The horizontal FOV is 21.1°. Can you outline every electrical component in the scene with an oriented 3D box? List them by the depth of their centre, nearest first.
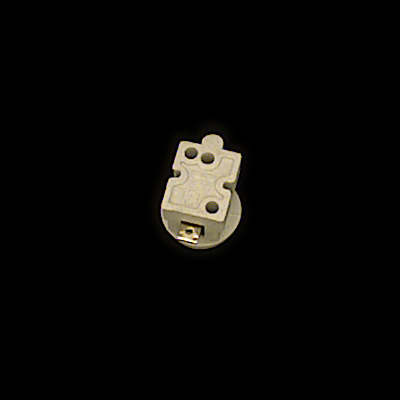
[{"bbox_3d":[0.000,0.000,0.638,0.048,0.066,0.055,13,-25,6],"label":"electrical component"}]
